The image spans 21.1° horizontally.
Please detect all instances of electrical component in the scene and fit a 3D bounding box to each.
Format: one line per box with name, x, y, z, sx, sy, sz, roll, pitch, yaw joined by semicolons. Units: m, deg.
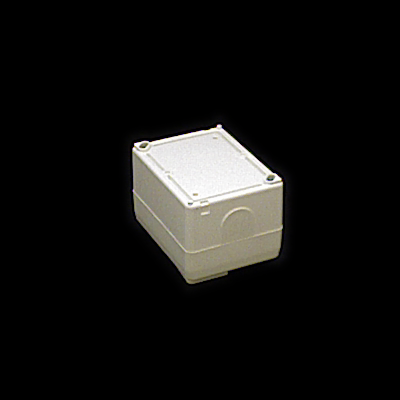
electrical component;0.000;0.000;0.639;0.062;0.062;0.095;-15;35;-23
